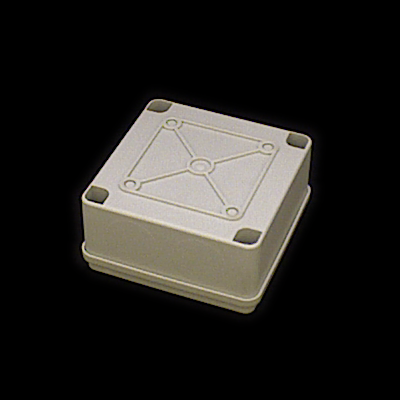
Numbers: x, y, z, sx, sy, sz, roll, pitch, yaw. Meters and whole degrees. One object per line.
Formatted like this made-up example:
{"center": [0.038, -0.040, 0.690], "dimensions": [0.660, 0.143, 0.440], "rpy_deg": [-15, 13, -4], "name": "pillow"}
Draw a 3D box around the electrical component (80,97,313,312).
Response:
{"center": [0.000, 0.000, 0.630], "dimensions": [0.108, 0.056, 0.108], "rpy_deg": [15, 44, 15], "name": "electrical component"}
